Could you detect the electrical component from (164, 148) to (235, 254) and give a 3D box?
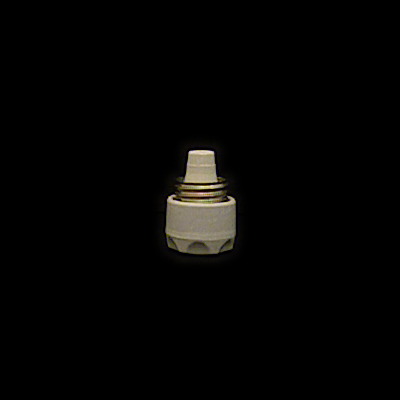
[{"bbox_3d":[0.000,0.000,0.652,0.043,0.062,0.043,1,11,0],"label":"electrical component"}]
